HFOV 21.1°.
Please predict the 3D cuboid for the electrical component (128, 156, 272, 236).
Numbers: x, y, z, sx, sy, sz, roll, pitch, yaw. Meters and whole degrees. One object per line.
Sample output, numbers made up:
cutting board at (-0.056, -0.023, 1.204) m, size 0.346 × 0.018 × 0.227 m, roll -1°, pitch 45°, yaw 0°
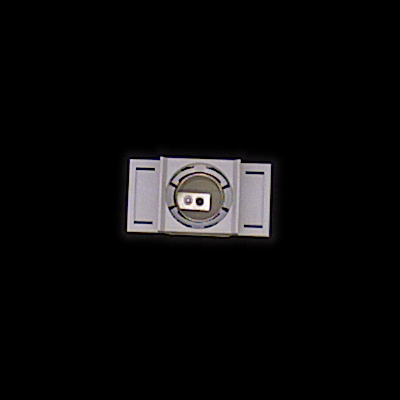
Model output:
electrical component at (0.000, 0.000, 0.625) m, size 0.081 × 0.042 × 0.063 m, roll 2°, pitch -5°, yaw 0°
